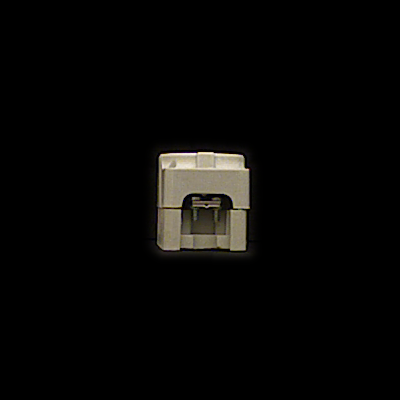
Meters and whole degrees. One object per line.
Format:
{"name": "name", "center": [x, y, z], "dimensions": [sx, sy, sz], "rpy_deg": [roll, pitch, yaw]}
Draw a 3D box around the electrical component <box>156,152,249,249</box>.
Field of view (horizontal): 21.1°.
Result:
{"name": "electrical component", "center": [0.000, 0.000, 0.656], "dimensions": [0.050, 0.056, 0.089], "rpy_deg": [1, 0, -6]}
